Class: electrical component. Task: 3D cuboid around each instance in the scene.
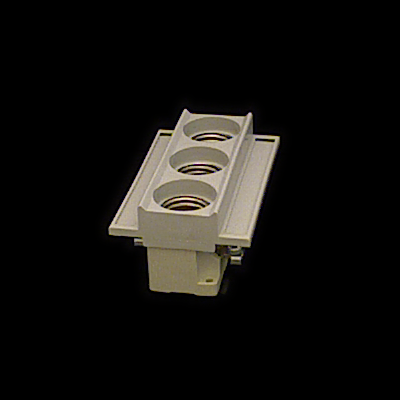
[{"bbox_3d":[0.000,0.000,0.645,0.078,0.064,0.120,5,32,10],"label":"electrical component"}]
